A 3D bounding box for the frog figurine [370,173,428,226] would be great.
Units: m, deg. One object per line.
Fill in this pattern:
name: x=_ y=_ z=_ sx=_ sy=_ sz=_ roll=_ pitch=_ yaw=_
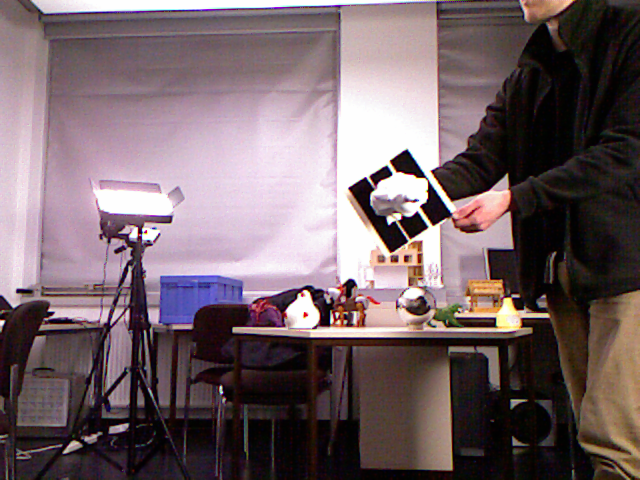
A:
frog figurine: x=0.182 y=-0.103 z=1.190 sx=0.137 sy=0.124 sz=0.158 roll=-13 pitch=-10 yaw=6
